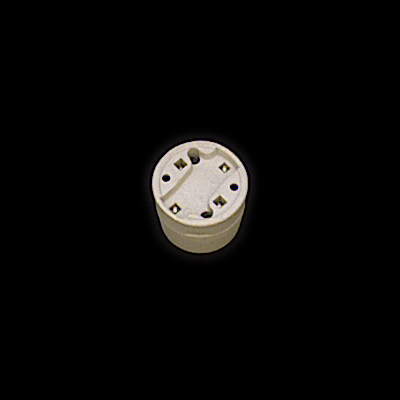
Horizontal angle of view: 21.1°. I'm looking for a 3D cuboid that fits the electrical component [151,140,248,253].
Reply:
[{"bbox_3d":[0.000,0.000,0.633,0.055,0.056,0.047,0,-27,0],"label":"electrical component"}]
